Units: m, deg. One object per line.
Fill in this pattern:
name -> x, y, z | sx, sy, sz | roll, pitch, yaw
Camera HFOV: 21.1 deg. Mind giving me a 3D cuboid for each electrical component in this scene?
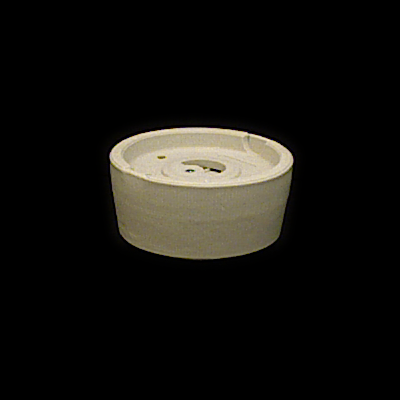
electrical component -> 0.000, 0.000, 0.642 | 0.108, 0.061, 0.106 | 2, 21, 0
